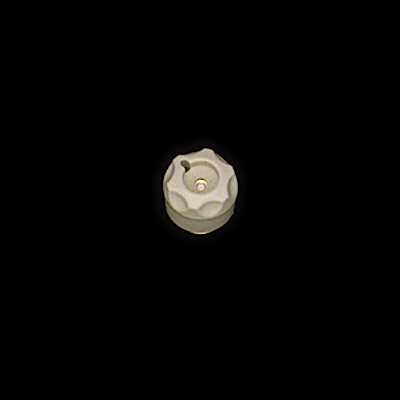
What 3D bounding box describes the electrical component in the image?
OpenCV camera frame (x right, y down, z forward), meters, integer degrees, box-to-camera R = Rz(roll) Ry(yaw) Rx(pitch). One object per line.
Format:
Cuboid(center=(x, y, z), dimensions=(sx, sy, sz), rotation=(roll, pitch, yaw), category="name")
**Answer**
Cuboid(center=(0.000, 0.000, 0.634), dimensions=(0.043, 0.043, 0.062), rotation=(0, -26, -1), category="electrical component")
